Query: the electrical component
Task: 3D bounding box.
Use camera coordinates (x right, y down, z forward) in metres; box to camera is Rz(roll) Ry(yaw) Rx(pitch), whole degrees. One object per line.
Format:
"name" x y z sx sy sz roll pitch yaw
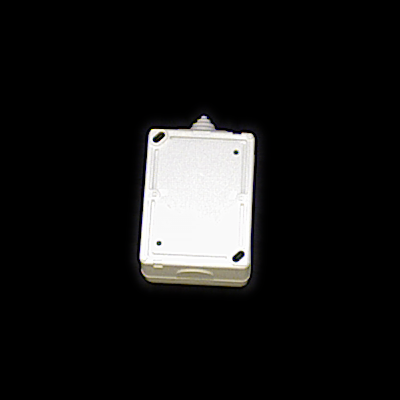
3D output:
"electrical component" 0.000 0.000 0.628 0.062 0.096 0.061 3 -17 1
